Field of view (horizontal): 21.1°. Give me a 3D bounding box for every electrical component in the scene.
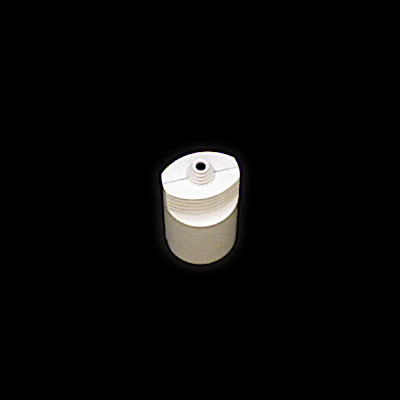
[{"bbox_3d":[0.000,0.000,0.617,0.043,0.043,0.081,0,-27,0],"label":"electrical component"}]
